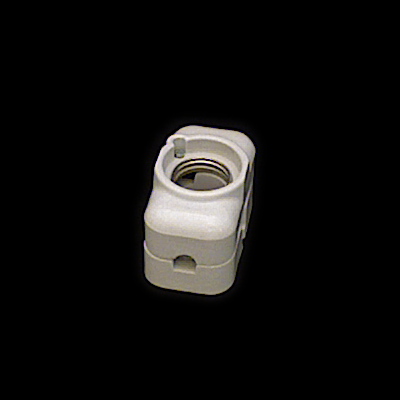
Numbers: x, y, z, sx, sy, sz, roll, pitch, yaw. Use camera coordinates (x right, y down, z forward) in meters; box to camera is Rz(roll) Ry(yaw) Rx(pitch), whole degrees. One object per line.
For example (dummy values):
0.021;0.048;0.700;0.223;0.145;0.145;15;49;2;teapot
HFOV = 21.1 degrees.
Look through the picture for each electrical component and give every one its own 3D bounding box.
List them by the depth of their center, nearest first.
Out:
0.000;0.000;0.638;0.053;0.060;0.094;8;43;7;electrical component
